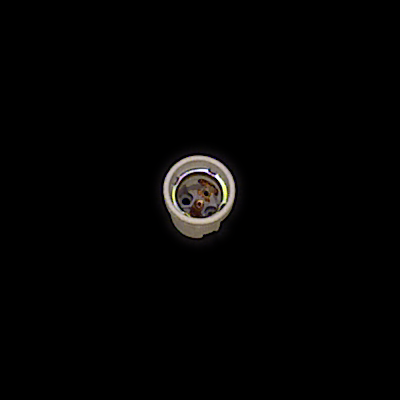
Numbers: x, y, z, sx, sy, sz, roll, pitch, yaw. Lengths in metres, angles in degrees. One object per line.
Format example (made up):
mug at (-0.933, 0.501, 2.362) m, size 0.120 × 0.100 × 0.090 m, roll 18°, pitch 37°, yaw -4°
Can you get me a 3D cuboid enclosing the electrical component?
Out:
electrical component at (0.000, 0.000, 0.626) m, size 0.040 × 0.040 × 0.046 m, roll 0°, pitch -17°, yaw -1°
